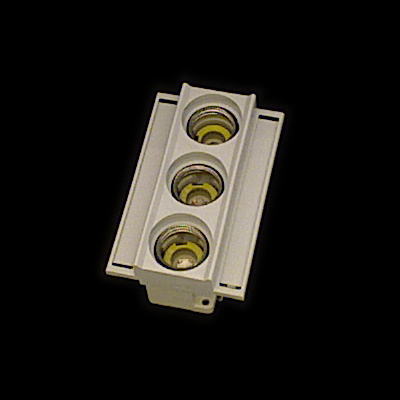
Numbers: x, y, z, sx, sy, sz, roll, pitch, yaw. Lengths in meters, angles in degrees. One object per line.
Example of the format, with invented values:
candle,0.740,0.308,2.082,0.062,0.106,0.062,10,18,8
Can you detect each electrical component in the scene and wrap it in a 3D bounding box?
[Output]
electrical component,0.000,0.000,0.637,0.078,0.121,0.063,11,-26,7
